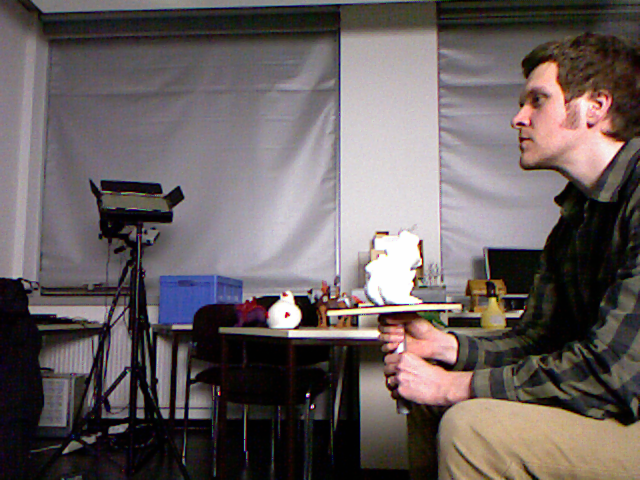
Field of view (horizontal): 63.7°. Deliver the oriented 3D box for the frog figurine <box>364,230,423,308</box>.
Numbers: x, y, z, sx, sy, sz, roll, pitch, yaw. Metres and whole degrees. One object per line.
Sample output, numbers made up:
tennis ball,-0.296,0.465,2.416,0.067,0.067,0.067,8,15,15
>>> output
frog figurine,0.150,0.060,1.061,0.137,0.161,0.122,5,-11,-35
